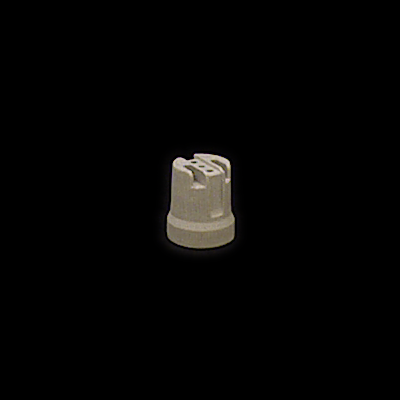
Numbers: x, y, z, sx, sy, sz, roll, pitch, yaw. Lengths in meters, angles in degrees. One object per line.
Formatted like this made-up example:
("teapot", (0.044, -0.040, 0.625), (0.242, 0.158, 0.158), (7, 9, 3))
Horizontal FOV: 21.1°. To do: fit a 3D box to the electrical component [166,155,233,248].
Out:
("electrical component", (0.000, 0.000, 0.640), (0.040, 0.046, 0.040), (0, 21, 0))
